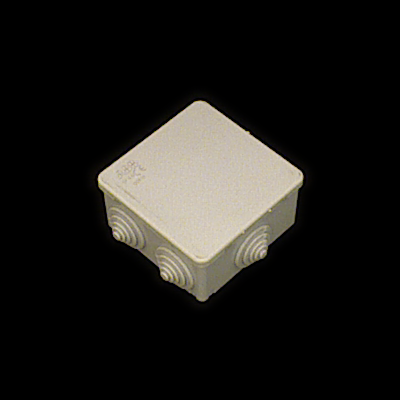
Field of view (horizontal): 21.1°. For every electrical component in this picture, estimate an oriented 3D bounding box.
[{"bbox_3d":[0.000,0.000,0.640,0.099,0.048,0.100,38,62,24],"label":"electrical component"}]
